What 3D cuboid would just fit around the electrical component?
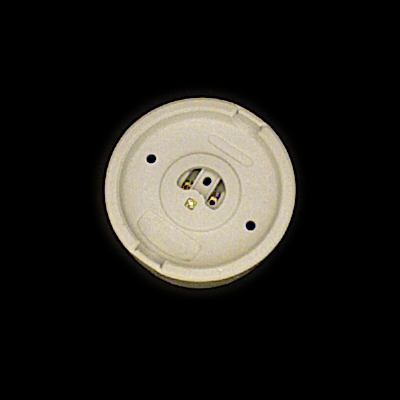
[{"bbox_3d":[0.000,0.000,0.632,0.108,0.108,0.060,0,-17,0],"label":"electrical component"}]
